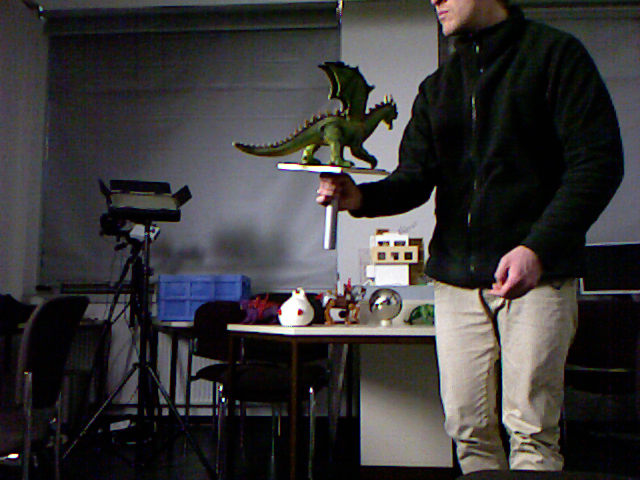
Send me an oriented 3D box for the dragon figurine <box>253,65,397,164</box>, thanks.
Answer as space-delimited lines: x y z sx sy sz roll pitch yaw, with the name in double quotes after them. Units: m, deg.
0.037 -0.306 1.272 0.412 0.241 0.123 -1 14 -34 "dragon figurine"
